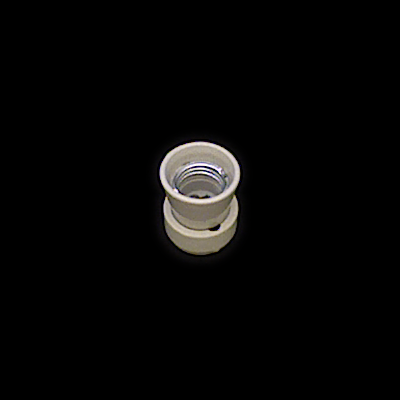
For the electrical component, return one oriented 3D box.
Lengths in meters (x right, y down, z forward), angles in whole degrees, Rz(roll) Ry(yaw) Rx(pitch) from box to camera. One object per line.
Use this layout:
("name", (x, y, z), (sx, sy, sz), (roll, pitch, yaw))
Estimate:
("electrical component", (0.000, 0.000, 0.628), (0.045, 0.044, 0.055), (0, -38, 1))
